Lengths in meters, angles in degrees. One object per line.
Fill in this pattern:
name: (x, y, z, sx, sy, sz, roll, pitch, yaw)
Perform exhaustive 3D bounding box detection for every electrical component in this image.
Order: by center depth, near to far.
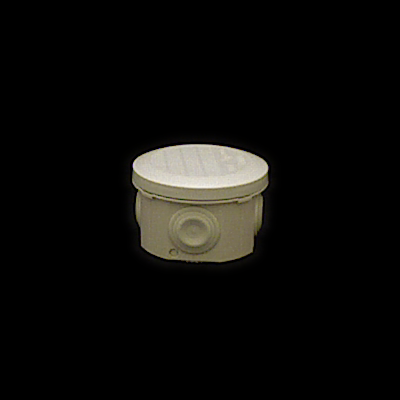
electrical component: (0.000, 0.000, 0.638, 0.080, 0.051, 0.079, 1, 21, 0)
